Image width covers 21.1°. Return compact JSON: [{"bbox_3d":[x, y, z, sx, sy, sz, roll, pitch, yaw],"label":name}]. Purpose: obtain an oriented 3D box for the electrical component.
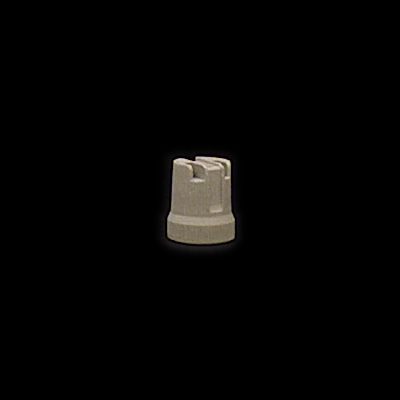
[{"bbox_3d":[0.000,0.000,0.644,0.040,0.046,0.040,1,11,0],"label":"electrical component"}]
